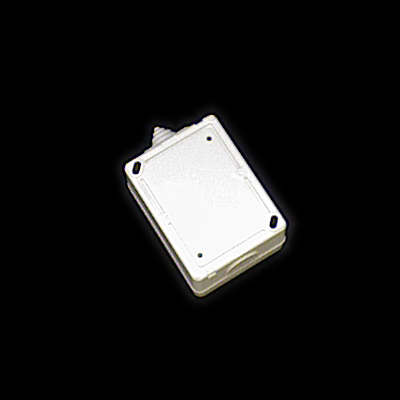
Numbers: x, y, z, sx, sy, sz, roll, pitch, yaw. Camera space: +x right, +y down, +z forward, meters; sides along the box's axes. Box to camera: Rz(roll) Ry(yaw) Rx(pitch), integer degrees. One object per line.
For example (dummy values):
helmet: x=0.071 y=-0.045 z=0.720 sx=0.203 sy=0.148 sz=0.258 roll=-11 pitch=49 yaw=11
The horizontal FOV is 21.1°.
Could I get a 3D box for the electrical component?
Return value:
electrical component: x=0.000 y=0.000 z=0.627 sx=0.062 sy=0.096 sz=0.061 roll=-31 pitch=-14 yaw=-8
